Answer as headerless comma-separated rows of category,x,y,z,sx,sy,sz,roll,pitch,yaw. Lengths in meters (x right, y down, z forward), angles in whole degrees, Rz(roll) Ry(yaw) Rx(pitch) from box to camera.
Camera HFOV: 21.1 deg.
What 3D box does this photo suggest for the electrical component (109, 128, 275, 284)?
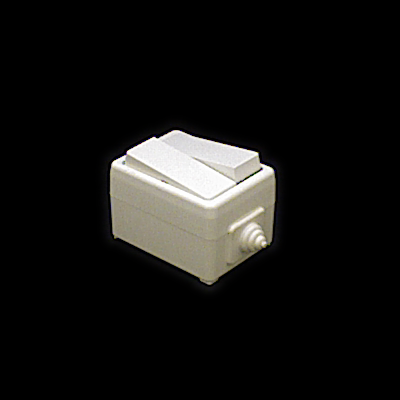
electrical component,0.000,0.000,0.633,0.096,0.061,0.061,24,38,33
